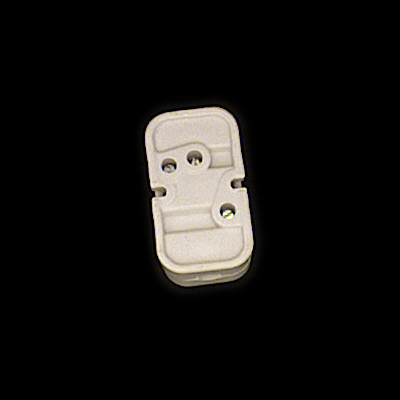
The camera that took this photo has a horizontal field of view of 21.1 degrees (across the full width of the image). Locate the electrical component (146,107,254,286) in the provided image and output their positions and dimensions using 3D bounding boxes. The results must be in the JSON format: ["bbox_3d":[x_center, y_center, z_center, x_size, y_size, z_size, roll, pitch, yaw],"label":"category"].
[{"bbox_3d":[0.000,0.000,0.635,0.054,0.095,0.059,-7,-15,-2],"label":"electrical component"}]
